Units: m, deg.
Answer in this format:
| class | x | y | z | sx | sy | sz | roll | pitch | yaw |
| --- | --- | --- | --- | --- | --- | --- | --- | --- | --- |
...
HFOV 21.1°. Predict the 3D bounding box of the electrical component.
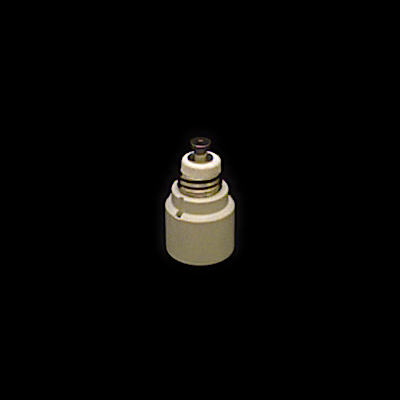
| class | x | y | z | sx | sy | sz | roll | pitch | yaw |
| --- | --- | --- | --- | --- | --- | --- | --- | --- | --- |
| electrical component | 0.000 | 0.000 | 0.631 | 0.040 | 0.079 | 0.039 | 1 | 32 | 0 |
